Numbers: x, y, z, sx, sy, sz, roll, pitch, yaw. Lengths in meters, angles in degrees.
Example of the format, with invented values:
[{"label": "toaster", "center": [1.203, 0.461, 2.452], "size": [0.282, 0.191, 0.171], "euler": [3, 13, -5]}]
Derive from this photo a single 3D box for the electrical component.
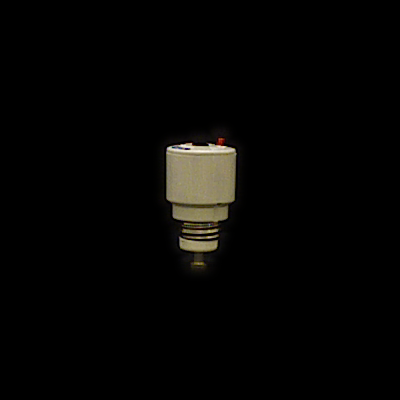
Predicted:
[{"label": "electrical component", "center": [0.000, 0.000, 0.643], "size": [0.040, 0.079, 0.040], "euler": [2, 11, 0]}]
